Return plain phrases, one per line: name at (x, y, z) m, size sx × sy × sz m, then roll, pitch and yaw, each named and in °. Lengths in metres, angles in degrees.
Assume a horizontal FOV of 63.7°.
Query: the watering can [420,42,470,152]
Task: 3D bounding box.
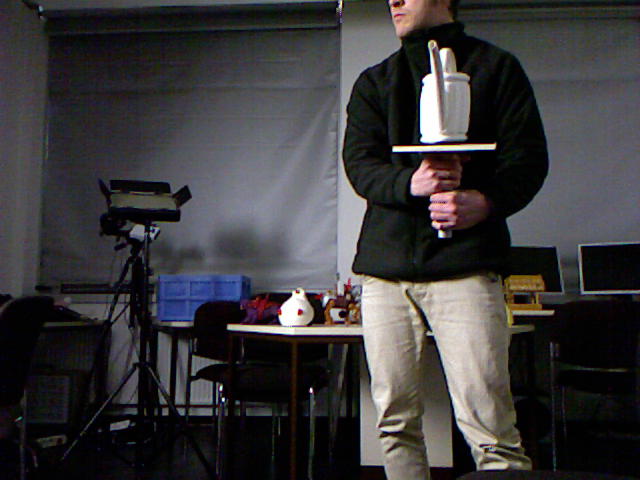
watering can at (0.260, -0.299, 1.097) m, size 0.104 × 0.223 × 0.351 m, roll 5°, pitch 12°, yaw 21°
